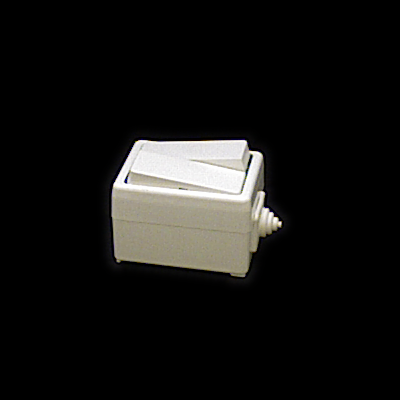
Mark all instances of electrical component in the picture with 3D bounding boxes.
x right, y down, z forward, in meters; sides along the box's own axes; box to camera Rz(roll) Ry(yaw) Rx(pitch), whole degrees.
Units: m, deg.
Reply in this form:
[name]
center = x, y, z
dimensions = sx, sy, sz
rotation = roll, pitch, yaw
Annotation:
[electrical component]
center = 0.000, 0.000, 0.634
dimensions = 0.096, 0.061, 0.061
rotation = 6, 32, 9
